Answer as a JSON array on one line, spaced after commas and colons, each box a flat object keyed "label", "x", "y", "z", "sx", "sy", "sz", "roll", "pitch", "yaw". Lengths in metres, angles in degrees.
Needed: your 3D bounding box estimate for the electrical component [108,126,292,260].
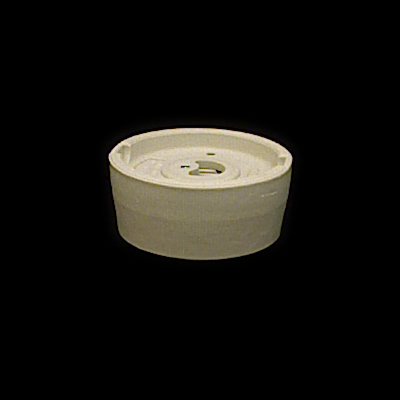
[{"label": "electrical component", "x": 0.000, "y": 0.000, "z": 0.644, "sx": 0.108, "sy": 0.061, "sz": 0.106, "roll": 2, "pitch": 21, "yaw": 0}]
